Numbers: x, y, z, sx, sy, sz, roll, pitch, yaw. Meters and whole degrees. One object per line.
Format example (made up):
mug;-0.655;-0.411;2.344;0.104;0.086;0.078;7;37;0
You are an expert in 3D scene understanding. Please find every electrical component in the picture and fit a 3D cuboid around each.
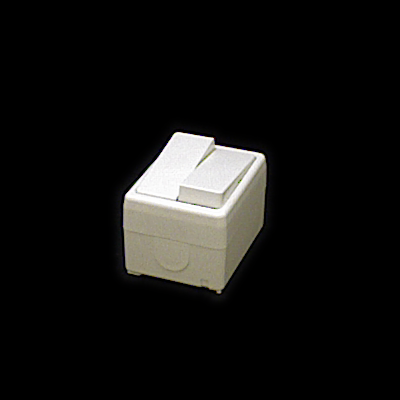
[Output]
electrical component;0.000;0.000;0.637;0.061;0.061;0.095;12;33;17
